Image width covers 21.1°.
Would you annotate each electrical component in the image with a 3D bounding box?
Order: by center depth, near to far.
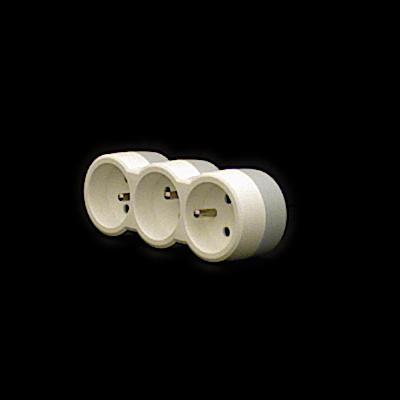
[{"bbox_3d":[0.000,0.000,0.653,0.136,0.052,0.074,12,14,43],"label":"electrical component"}]
